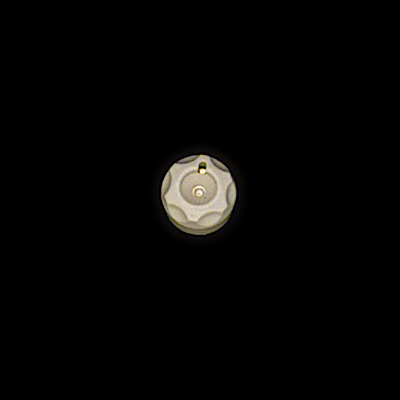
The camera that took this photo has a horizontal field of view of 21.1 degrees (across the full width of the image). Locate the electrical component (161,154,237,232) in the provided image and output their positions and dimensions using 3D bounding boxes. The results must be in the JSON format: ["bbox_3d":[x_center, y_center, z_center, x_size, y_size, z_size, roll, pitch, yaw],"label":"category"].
[{"bbox_3d":[0.000,0.000,0.633,0.043,0.043,0.061,0,-15,0],"label":"electrical component"}]
